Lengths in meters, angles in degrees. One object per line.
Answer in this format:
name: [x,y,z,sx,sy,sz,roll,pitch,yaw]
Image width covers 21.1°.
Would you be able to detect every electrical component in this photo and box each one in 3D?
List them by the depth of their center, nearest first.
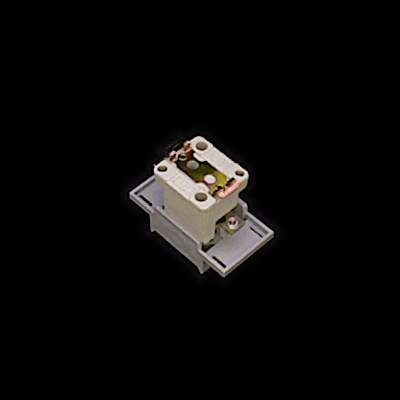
electrical component: [0.000,0.000,0.627,0.080,0.064,0.042,38,61,26]
